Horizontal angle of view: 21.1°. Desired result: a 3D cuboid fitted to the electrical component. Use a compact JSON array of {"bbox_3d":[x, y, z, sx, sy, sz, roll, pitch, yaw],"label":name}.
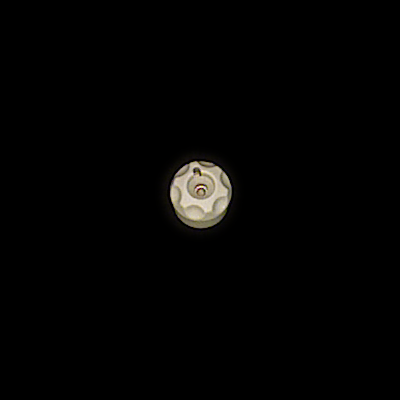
[{"bbox_3d":[0.000,0.000,0.634,0.035,0.035,0.061,0,-16,1],"label":"electrical component"}]
